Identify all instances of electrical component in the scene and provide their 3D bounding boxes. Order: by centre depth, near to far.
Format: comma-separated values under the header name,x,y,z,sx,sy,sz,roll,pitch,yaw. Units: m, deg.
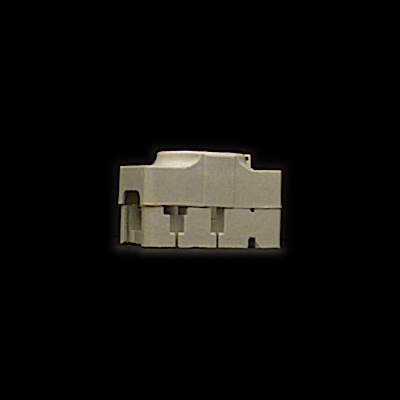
name,x,y,z,sx,sy,sz,roll,pitch,yaw
electrical component,0.000,0.000,0.656,0.090,0.056,0.050,1,1,-26
